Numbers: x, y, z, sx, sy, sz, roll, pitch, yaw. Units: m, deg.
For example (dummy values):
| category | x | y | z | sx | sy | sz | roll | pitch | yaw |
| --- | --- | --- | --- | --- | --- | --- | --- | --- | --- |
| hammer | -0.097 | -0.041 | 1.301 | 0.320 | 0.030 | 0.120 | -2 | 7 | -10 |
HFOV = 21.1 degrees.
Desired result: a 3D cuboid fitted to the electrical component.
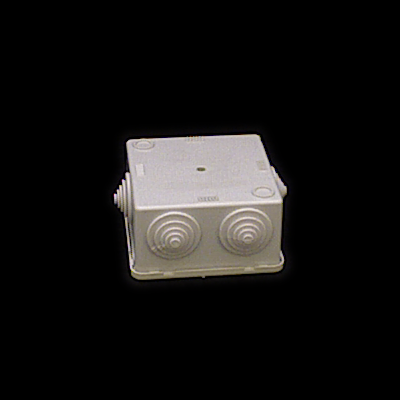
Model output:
| category | x | y | z | sx | sy | sz | roll | pitch | yaw |
| --- | --- | --- | --- | --- | --- | --- | --- | --- | --- |
| electrical component | 0.000 | 0.000 | 0.638 | 0.100 | 0.049 | 0.098 | -3 | 32 | -6 |
